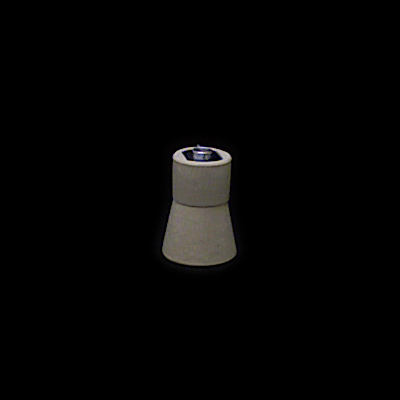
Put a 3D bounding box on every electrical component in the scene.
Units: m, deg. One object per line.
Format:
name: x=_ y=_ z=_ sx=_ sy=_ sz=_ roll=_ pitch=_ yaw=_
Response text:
electrical component: x=0.000 y=0.000 z=0.638 sx=0.044 sy=0.066 sz=0.044 roll=2 pitch=21 yaw=-1
